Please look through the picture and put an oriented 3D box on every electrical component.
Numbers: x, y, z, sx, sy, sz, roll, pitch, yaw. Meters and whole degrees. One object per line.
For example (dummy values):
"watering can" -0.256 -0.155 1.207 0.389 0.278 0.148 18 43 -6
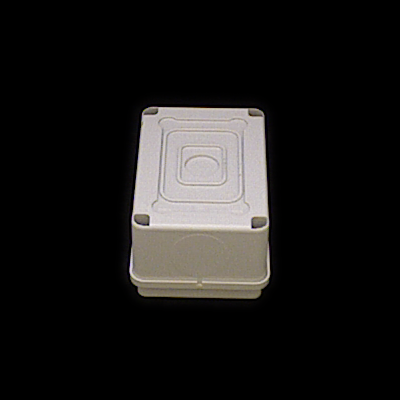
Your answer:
"electrical component" 0.000 0.000 0.631 0.078 0.057 0.112 1 42 0
